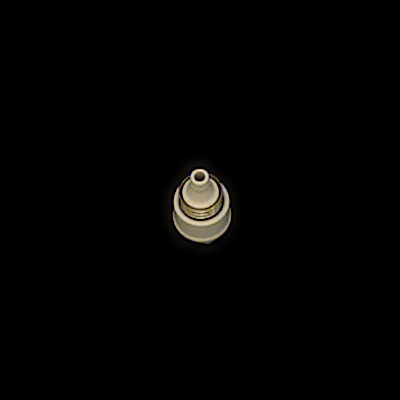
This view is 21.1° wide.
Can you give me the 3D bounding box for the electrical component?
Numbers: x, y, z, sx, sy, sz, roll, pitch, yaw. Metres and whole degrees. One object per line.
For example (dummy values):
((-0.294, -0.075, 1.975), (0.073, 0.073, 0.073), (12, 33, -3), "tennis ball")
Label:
((0.000, 0.000, 0.637), (0.035, 0.035, 0.061), (0, -28, 2), "electrical component")
